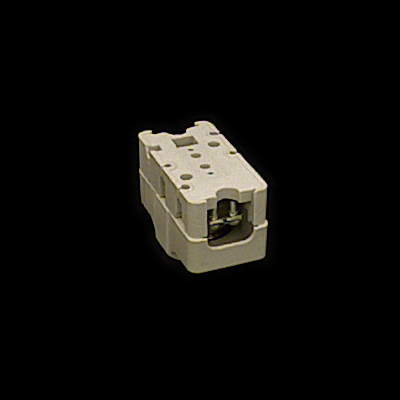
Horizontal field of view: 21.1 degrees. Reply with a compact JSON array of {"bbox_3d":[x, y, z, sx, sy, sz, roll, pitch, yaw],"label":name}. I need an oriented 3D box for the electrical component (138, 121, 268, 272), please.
[{"bbox_3d":[0.000,0.000,0.642,0.050,0.056,0.088,-13,34,-19],"label":"electrical component"}]
